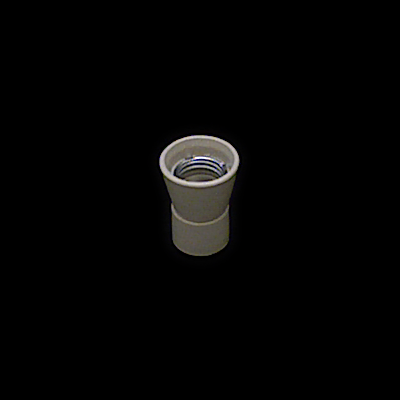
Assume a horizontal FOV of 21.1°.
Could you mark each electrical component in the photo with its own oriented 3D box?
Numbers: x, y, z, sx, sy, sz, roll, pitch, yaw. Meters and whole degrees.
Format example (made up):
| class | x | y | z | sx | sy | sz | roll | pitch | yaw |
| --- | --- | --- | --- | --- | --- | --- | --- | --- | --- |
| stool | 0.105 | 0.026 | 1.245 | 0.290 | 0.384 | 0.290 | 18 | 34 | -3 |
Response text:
| class | x | y | z | sx | sy | sz | roll | pitch | yaw |
| --- | --- | --- | --- | --- | --- | --- | --- | --- | --- |
| electrical component | 0.000 | 0.000 | 0.628 | 0.044 | 0.066 | 0.044 | 0 | 43 | 0 |
